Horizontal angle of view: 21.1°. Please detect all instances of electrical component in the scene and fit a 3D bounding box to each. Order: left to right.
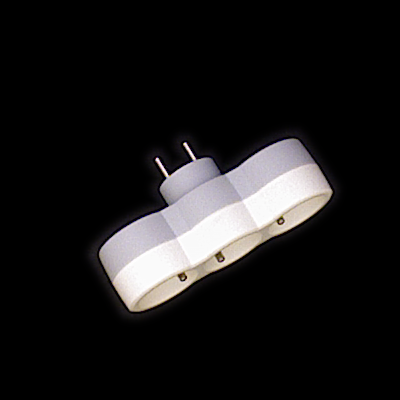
[{"bbox_3d":[0.000,0.000,0.630,0.138,0.074,0.052,-30,-17,-8],"label":"electrical component"}]
